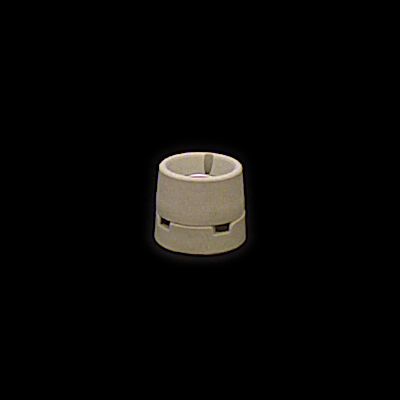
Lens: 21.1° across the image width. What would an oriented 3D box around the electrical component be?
[{"bbox_3d":[0.000,0.000,0.640,0.055,0.047,0.055,0,22,0],"label":"electrical component"}]
